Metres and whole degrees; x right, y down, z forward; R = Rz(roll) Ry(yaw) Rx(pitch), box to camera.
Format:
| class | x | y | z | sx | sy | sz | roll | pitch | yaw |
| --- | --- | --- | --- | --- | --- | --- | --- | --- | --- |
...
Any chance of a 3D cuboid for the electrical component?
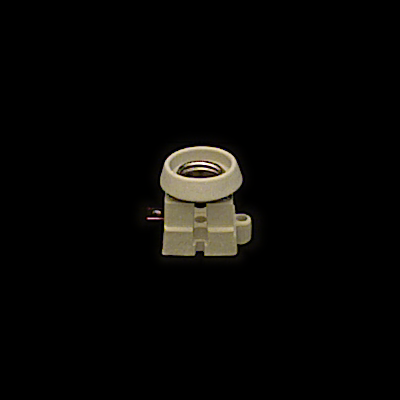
| class | x | y | z | sx | sy | sz | roll | pitch | yaw |
| --- | --- | --- | --- | --- | --- | --- | --- | --- | --- |
| electrical component | 0.000 | 0.000 | 0.642 | 0.066 | 0.056 | 0.048 | 0 | 30 | -2 |
